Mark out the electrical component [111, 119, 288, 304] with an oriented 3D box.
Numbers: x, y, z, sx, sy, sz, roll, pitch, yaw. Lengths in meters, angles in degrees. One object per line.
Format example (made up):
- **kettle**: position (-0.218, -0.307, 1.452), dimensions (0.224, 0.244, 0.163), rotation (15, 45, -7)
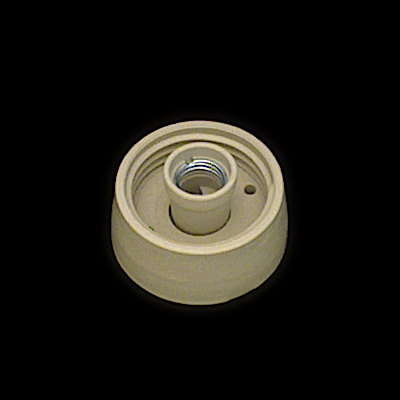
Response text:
- **electrical component**: position (0.000, 0.000, 0.635), dimensions (0.108, 0.107, 0.060), rotation (0, -37, -1)
